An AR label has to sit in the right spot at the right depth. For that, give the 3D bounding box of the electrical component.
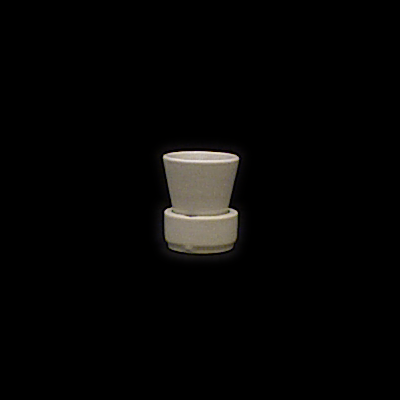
[{"bbox_3d":[0.000,0.000,0.643,0.045,0.055,0.044,1,11,0],"label":"electrical component"}]
